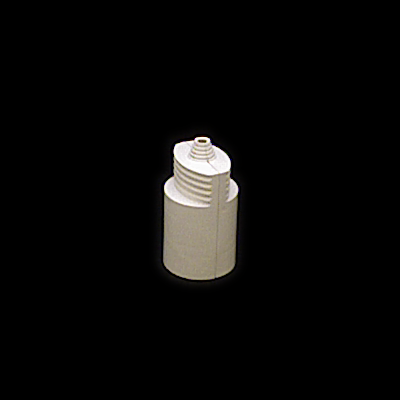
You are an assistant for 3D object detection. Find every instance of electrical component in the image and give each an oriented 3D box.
[{"bbox_3d":[0.000,0.000,0.628,0.043,0.082,0.042,1,31,0],"label":"electrical component"}]
